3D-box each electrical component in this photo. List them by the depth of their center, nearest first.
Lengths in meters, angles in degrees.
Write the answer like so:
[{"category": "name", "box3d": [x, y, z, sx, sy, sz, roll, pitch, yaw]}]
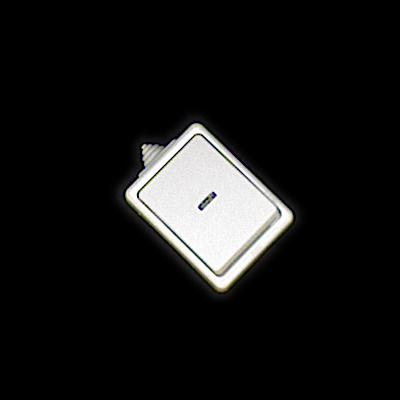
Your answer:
[{"category": "electrical component", "box3d": [0.000, 0.000, 0.627, 0.096, 0.062, 0.061, 44, -4, 5]}]
